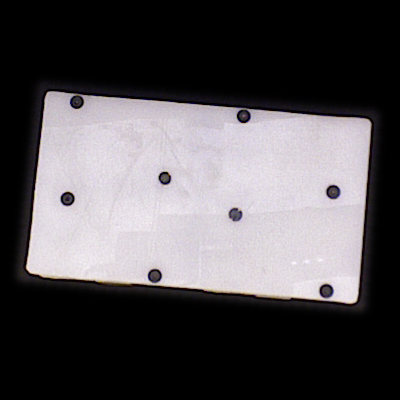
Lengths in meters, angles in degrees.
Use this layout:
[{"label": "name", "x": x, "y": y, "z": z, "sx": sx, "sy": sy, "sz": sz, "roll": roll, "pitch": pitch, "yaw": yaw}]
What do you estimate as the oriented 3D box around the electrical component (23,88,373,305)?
[{"label": "electrical component", "x": 0.000, "y": 0.000, "z": 0.626, "sx": 0.186, "sy": 0.106, "sz": 0.060, "roll": 5, "pitch": -7, "yaw": 1}]
